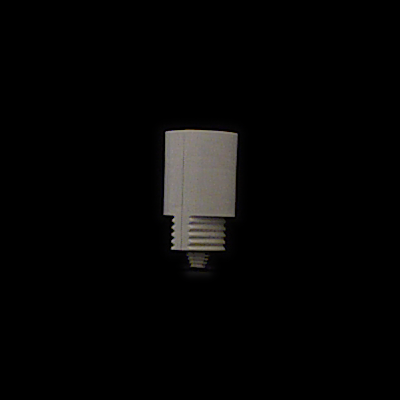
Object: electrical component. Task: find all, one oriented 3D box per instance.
[{"bbox_3d":[0.000,0.000,0.647,0.043,0.081,0.043,0,1,0],"label":"electrical component"}]
